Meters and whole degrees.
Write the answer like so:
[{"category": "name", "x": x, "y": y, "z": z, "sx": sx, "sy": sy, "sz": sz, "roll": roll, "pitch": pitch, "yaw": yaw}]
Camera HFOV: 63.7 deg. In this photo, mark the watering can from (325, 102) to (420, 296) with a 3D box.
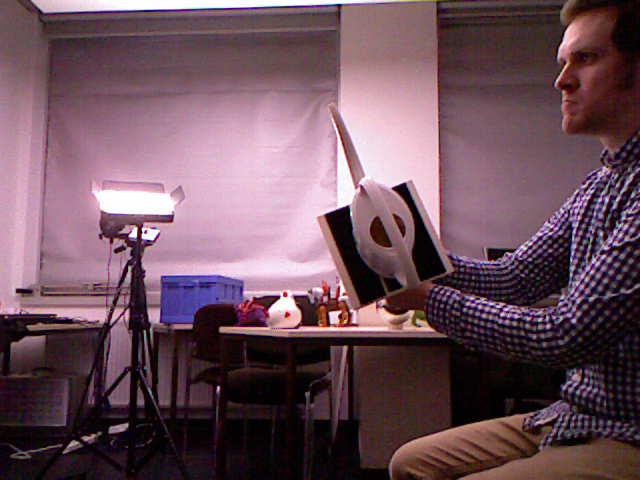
[{"category": "watering can", "x": 0.090, "y": -0.061, "z": 0.921, "sx": 0.104, "sy": 0.353, "sz": 0.222, "roll": -21, "pitch": -15, "yaw": -4}]
